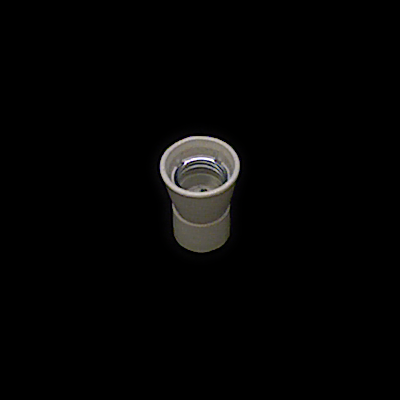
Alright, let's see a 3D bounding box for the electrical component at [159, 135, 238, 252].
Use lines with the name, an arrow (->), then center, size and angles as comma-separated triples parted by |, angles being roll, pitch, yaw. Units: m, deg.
electrical component -> 0.000, 0.000, 0.627 | 0.044, 0.044, 0.065 | 0, -38, 1
